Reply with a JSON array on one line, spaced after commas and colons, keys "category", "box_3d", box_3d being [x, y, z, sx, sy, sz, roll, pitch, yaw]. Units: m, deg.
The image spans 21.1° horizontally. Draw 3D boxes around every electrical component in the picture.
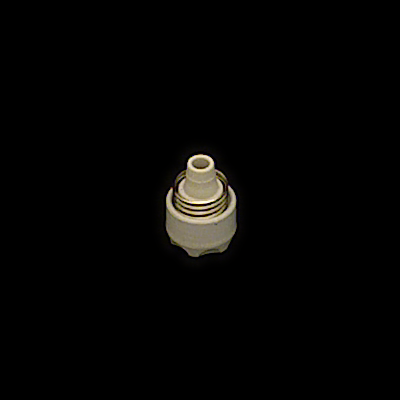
[{"category": "electrical component", "box_3d": [0.000, 0.000, 0.637, 0.043, 0.062, 0.043, 0, 44, 1]}]
